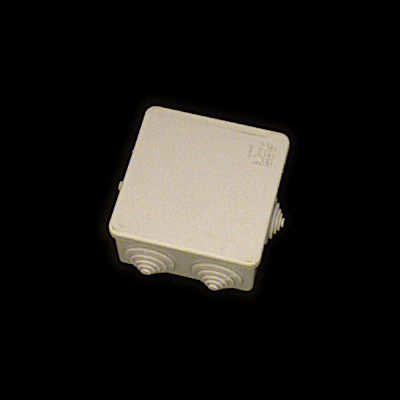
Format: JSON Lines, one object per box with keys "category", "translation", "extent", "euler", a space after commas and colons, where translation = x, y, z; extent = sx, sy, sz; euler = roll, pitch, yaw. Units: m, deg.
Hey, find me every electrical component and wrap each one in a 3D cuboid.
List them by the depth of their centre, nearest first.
{"category": "electrical component", "translation": [0.000, 0.000, 0.641], "extent": [0.099, 0.100, 0.048], "euler": [13, -26, 6]}
